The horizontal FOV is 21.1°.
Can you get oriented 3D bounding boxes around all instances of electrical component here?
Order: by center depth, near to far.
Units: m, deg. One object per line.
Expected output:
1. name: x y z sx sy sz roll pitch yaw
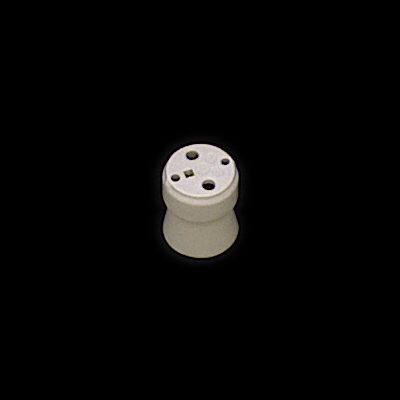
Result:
1. electrical component: 0.000 0.000 0.631 0.045 0.044 0.055 0 -38 -1
